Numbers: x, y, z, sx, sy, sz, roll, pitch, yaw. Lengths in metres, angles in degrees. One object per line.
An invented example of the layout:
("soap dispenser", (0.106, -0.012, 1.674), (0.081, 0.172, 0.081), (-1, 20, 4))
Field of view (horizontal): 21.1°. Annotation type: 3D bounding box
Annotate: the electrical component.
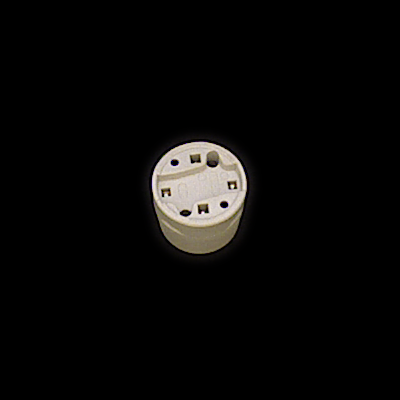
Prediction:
("electrical component", (0.000, 0.000, 0.635), (0.055, 0.056, 0.047), (0, -27, 0))
